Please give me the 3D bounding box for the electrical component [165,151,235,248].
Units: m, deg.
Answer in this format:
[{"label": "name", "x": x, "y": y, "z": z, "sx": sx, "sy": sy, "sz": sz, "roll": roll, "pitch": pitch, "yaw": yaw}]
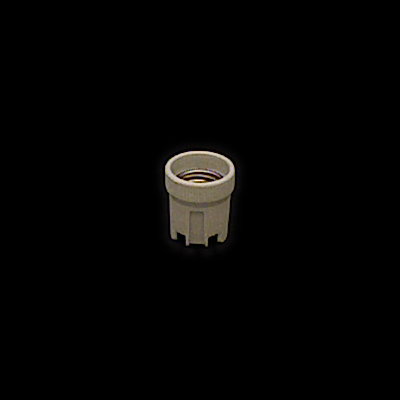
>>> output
[{"label": "electrical component", "x": 0.000, "y": 0.000, "z": 0.634, "sx": 0.040, "sy": 0.047, "sz": 0.039, "roll": 1, "pitch": 32, "yaw": 0}]
